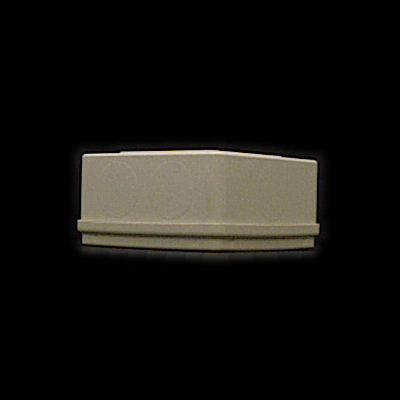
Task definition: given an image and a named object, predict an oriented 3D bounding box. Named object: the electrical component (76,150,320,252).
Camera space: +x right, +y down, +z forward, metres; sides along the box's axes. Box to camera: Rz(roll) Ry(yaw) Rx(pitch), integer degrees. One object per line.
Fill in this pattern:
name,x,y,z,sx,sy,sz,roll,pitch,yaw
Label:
electrical component,0.000,0.000,0.648,0.108,0.056,0.109,1,1,38
